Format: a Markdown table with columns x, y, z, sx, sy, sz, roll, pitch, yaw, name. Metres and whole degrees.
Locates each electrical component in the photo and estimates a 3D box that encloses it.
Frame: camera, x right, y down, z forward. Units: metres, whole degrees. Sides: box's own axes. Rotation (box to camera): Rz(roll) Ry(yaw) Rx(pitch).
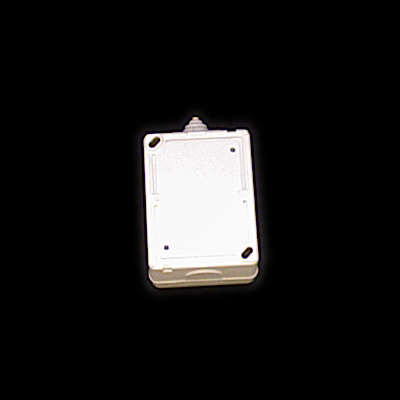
| x | y | z | sx | sy | sz | roll | pitch | yaw | name |
| --- | --- | --- | --- | --- | --- | --- | --- | --- | --- |
| 0.000 | 0.000 | 0.628 | 0.062 | 0.096 | 0.060 | -3 | -18 | -1 | electrical component |
